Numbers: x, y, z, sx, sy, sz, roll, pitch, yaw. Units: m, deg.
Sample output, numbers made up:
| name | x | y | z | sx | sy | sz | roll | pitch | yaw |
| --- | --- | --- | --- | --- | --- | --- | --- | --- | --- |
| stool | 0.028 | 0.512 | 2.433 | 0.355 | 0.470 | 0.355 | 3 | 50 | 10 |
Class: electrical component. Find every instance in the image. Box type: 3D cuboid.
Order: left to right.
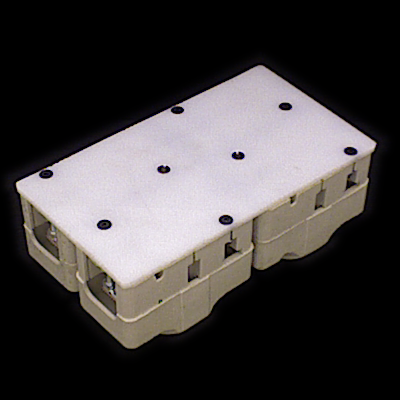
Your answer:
| name | x | y | z | sx | sy | sz | roll | pitch | yaw |
| --- | --- | --- | --- | --- | --- | --- | --- | --- | --- |
| electrical component | 0.000 | 0.000 | 0.630 | 0.186 | 0.061 | 0.104 | -28 | 50 | -29 |
